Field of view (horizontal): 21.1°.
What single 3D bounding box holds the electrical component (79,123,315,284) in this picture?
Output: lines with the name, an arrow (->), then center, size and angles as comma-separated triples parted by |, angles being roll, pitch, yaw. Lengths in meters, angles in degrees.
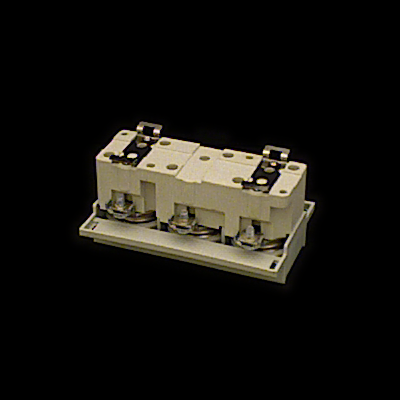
electrical component -> 0.000, 0.000, 0.638 | 0.121, 0.064, 0.078 | 11, 34, 17
